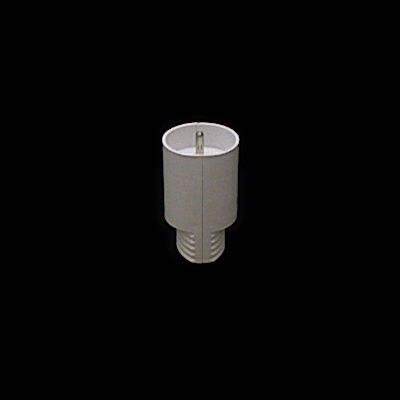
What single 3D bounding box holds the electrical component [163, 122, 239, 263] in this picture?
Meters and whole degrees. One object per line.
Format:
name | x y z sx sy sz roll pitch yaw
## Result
electrical component | 0.000 0.000 0.629 0.043 0.082 0.042 1 31 0
